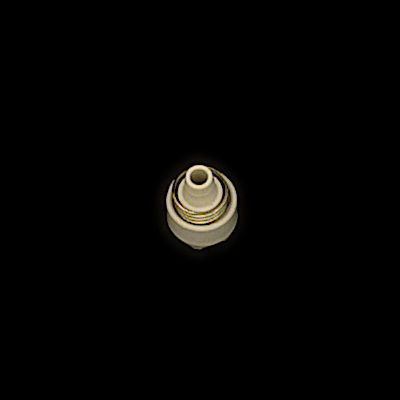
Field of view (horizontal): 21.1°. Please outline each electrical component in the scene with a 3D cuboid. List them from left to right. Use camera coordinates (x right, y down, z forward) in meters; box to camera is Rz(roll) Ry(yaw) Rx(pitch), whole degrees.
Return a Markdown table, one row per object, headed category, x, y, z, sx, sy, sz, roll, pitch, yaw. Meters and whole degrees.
| category | x | y | z | sx | sy | sz | roll | pitch | yaw |
| --- | --- | --- | --- | --- | --- | --- | --- | --- | --- |
| electrical component | 0.000 | 0.000 | 0.634 | 0.043 | 0.043 | 0.062 | 0 | -26 | 2 |
